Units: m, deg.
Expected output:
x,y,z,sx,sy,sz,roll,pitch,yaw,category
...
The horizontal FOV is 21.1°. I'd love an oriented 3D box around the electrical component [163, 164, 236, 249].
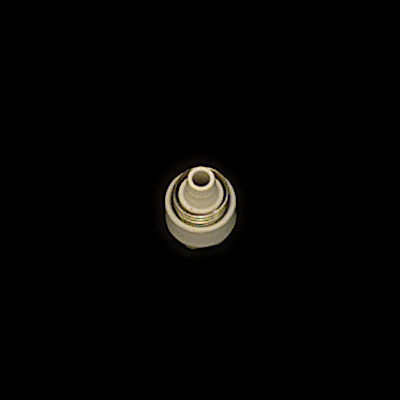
x,y,z,sx,sy,sz,roll,pitch,yaw,category
0.000,0.000,0.633,0.043,0.043,0.062,0,-25,0,electrical component
